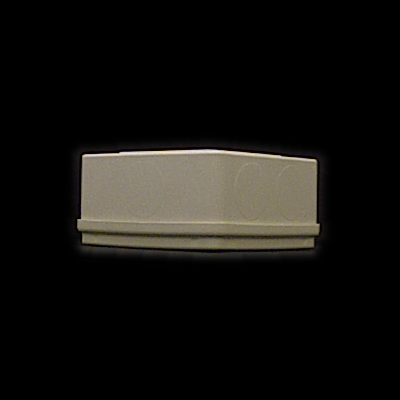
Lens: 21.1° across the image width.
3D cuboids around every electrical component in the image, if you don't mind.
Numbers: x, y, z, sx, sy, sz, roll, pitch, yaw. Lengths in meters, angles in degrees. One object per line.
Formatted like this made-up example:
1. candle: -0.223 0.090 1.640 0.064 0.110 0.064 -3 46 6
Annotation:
1. electrical component: 0.000 0.000 0.647 0.108 0.056 0.109 1 0 38
